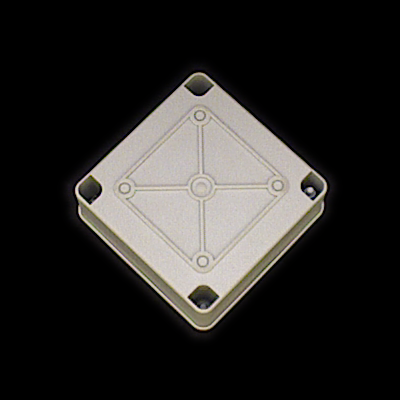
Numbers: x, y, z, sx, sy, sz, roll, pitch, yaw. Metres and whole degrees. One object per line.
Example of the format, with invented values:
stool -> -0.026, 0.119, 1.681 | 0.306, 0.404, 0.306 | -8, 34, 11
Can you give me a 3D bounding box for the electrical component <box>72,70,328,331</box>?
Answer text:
electrical component -> 0.000, 0.000, 0.628 | 0.109, 0.109, 0.056 | 43, -13, 11
